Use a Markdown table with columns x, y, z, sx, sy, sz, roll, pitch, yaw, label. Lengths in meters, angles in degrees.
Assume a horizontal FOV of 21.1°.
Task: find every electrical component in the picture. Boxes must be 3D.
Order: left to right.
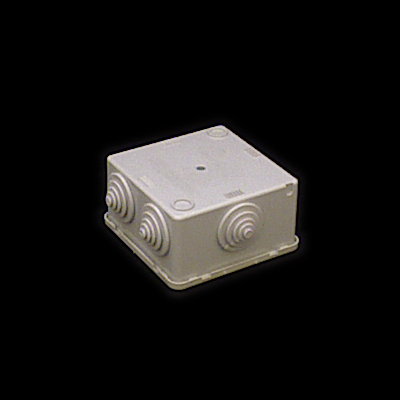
| x | y | z | sx | sy | sz | roll | pitch | yaw | label |
| --- | --- | --- | --- | --- | --- | --- | --- | --- | --- |
| 0.000 | 0.000 | 0.636 | 0.100 | 0.049 | 0.098 | -17 | 36 | -27 | electrical component |
